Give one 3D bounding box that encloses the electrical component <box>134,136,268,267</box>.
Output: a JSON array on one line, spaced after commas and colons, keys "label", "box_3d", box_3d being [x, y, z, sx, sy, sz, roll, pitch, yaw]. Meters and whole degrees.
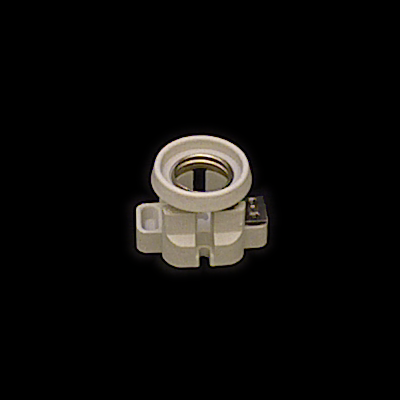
[{"label": "electrical component", "box_3d": [0.000, 0.000, 0.633, 0.078, 0.057, 0.057, -3, 42, -4]}]
